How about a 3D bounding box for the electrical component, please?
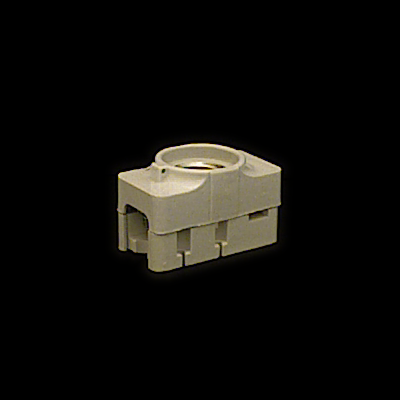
[{"bbox_3d":[0.000,0.000,0.647,0.090,0.056,0.049,-13,26,-33],"label":"electrical component"}]
